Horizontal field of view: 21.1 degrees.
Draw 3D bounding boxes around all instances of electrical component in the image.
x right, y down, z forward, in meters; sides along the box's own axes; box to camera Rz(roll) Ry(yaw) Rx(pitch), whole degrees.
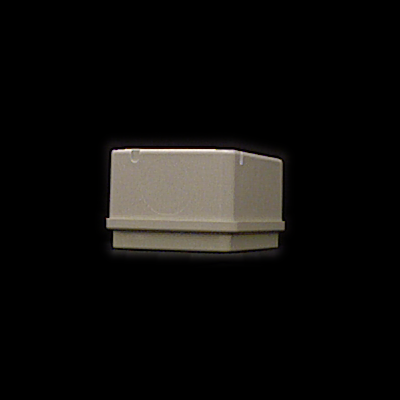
[{"bbox_3d":[0.000,0.000,0.650,0.078,0.057,0.113,1,0,20],"label":"electrical component"}]
